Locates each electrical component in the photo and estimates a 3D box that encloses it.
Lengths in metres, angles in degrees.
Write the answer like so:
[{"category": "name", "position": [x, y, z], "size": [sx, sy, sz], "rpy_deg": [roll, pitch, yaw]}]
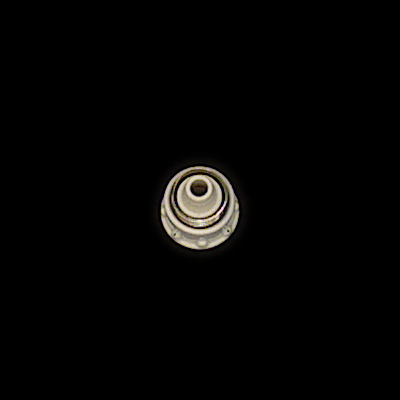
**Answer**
[{"category": "electrical component", "position": [0.000, 0.000, 0.633], "size": [0.048, 0.048, 0.061], "rpy_deg": [0, -15, 0]}]
